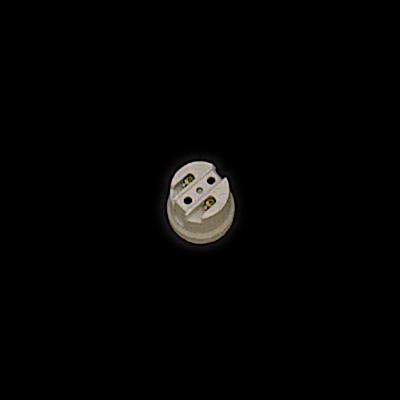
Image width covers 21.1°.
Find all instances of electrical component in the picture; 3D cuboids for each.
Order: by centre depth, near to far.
[{"bbox_3d":[0.000,0.000,0.633,0.040,0.040,0.046,0,-17,0],"label":"electrical component"}]
